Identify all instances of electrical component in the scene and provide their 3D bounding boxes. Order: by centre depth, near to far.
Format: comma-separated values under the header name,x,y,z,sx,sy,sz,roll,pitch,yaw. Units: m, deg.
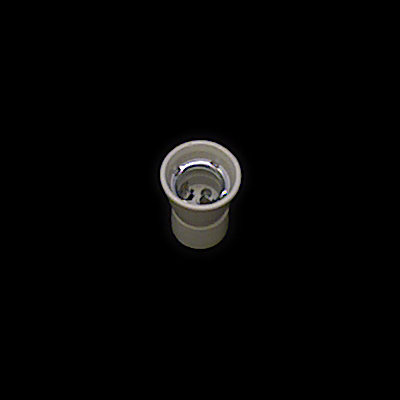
name,x,y,z,sx,sy,sz,roll,pitch,yaw
electrical component,0.000,0.000,0.626,0.044,0.044,0.065,0,-28,-1
